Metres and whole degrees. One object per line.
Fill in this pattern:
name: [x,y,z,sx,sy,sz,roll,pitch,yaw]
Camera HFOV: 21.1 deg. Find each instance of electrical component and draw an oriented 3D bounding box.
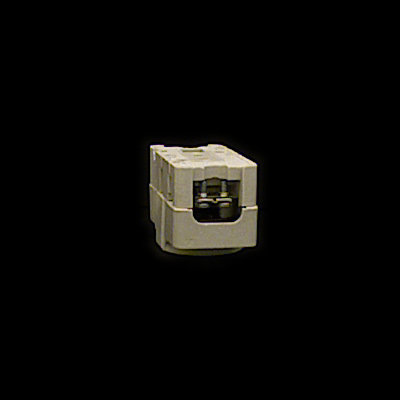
electrical component: [0.000,0.000,0.651,0.050,0.056,0.088,-2,11,-13]
